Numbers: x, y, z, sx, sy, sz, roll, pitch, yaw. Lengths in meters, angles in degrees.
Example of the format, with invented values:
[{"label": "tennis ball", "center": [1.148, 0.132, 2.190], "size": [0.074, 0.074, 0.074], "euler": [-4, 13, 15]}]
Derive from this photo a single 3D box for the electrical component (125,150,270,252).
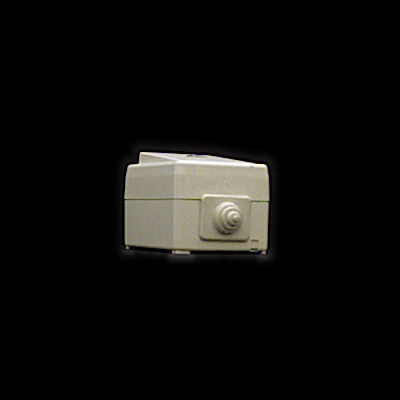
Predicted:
[{"label": "electrical component", "center": [0.000, 0.000, 0.647], "size": [0.062, 0.061, 0.096], "euler": [1, 0, -26]}]
